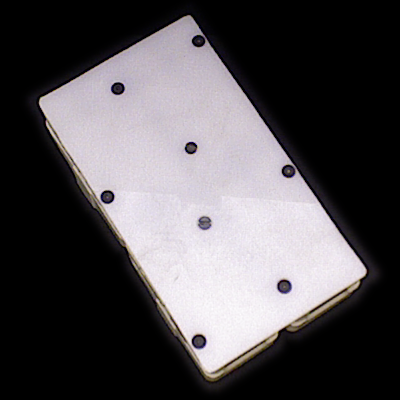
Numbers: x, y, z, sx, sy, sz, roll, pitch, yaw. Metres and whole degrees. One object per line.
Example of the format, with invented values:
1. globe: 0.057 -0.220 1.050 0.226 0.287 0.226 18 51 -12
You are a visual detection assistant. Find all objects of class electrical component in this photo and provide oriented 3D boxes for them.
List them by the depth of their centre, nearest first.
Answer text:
1. electrical component: 0.000 0.000 0.625 0.106 0.186 0.060 -31 -14 -9
